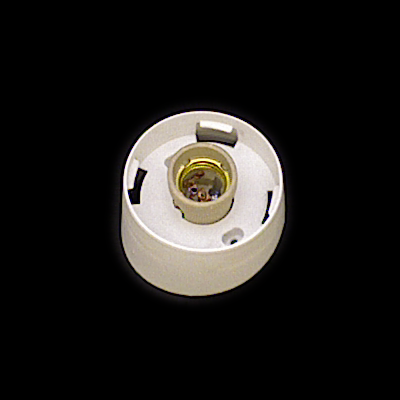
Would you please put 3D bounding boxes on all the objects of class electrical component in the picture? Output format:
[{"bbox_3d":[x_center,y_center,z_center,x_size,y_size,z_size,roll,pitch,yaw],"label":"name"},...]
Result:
[{"bbox_3d":[0.000,0.000,0.625,0.099,0.099,0.064,0,-27,0],"label":"electrical component"}]
